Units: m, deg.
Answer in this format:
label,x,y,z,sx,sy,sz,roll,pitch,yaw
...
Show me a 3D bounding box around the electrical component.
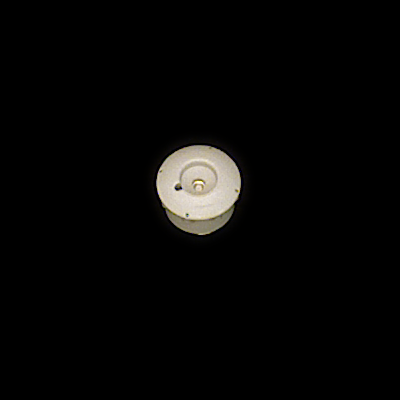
label,x,y,z,sx,sy,sz,roll,pitch,yaw
electrical component,0.000,0.000,0.632,0.048,0.048,0.062,0,-27,0
